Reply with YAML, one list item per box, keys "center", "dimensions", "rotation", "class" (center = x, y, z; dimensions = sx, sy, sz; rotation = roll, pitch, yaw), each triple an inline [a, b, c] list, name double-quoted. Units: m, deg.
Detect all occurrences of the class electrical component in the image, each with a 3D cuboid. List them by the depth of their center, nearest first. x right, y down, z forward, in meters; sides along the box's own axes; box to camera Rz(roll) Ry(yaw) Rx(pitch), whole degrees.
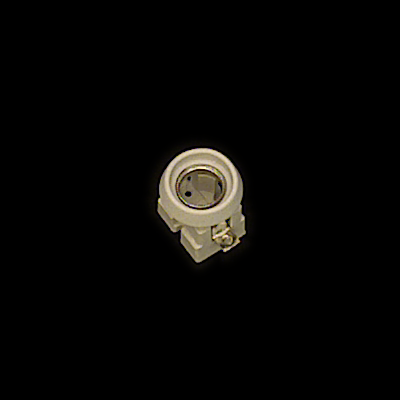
- center: [0.000, 0.000, 0.637]
  dimensions: [0.048, 0.066, 0.055]
  rotation: [-34, -22, -13]
  class: "electrical component"
